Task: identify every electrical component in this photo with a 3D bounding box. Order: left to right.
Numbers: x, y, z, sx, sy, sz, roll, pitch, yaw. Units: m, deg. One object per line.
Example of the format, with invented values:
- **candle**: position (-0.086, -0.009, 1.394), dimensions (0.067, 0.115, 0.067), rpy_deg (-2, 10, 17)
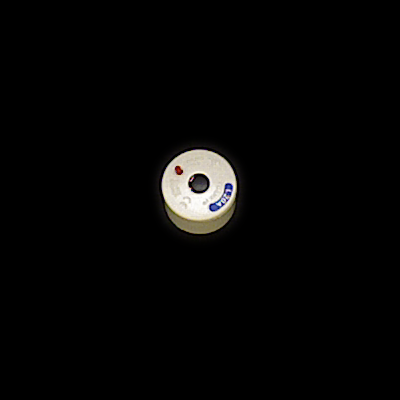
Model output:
- **electrical component**: position (0.000, 0.000, 0.617), dimensions (0.040, 0.040, 0.078), rpy_deg (0, -17, 1)
